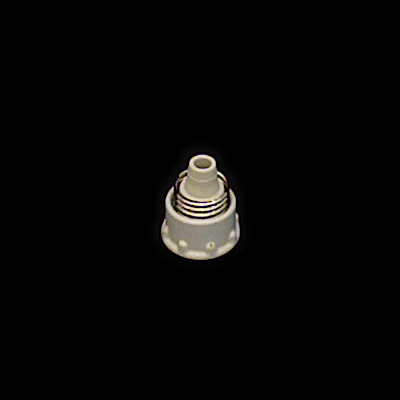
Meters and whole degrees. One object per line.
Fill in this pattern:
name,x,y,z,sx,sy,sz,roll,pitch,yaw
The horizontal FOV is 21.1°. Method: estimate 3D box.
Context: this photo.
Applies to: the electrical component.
electrical component,0.000,0.000,0.638,0.048,0.062,0.047,1,43,-1
